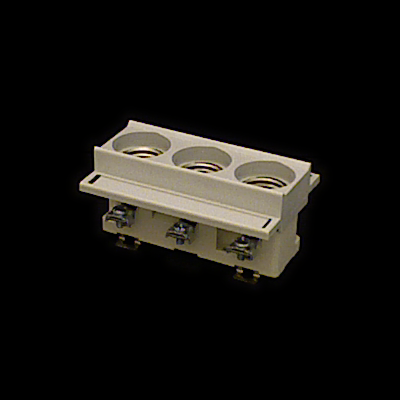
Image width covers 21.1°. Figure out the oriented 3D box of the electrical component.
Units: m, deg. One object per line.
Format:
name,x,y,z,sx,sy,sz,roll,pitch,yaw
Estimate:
electrical component,0.000,0.000,0.648,0.120,0.064,0.078,15,33,22
